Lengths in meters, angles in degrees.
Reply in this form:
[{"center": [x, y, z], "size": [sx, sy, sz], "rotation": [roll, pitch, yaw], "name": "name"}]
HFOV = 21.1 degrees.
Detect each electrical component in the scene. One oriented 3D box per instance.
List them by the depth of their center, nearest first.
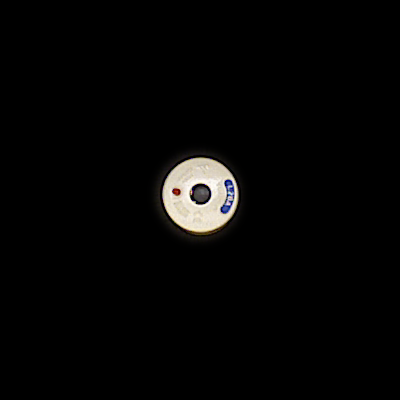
[{"center": [0.000, 0.000, 0.618], "size": [0.040, 0.040, 0.078], "rotation": [0, -6, 1], "name": "electrical component"}]
